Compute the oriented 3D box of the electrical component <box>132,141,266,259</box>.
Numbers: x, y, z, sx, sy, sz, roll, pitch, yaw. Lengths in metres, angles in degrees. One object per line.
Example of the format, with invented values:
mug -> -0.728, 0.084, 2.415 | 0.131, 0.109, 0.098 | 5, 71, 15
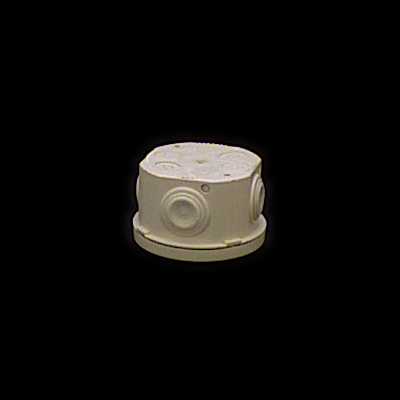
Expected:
electrical component -> 0.000, 0.000, 0.640 | 0.080, 0.051, 0.079 | 1, 21, 0
